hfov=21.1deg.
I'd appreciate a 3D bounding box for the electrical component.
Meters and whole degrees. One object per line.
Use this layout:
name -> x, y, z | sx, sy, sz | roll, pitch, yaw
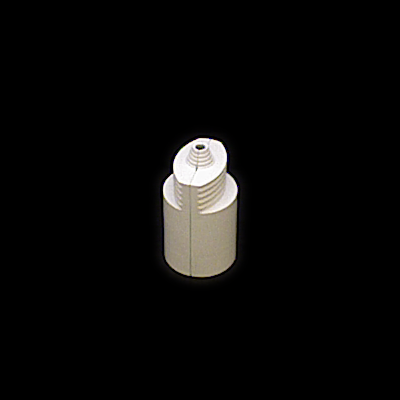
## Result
electrical component -> 0.000, 0.000, 0.624 | 0.043, 0.082, 0.042 | 1, 41, 0
